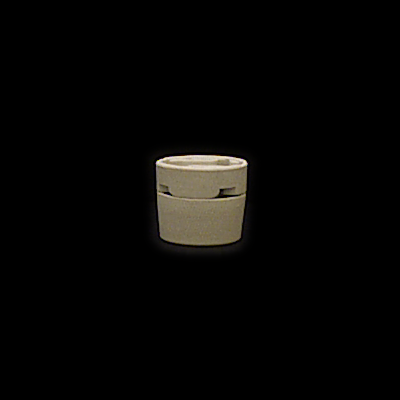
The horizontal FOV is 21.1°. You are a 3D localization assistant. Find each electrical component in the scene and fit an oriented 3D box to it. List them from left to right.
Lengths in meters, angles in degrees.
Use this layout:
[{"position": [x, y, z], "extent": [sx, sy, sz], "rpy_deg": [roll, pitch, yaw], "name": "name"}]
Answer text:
[{"position": [0.000, 0.000, 0.645], "extent": [0.055, 0.047, 0.055], "rpy_deg": [1, 11, 0], "name": "electrical component"}]
